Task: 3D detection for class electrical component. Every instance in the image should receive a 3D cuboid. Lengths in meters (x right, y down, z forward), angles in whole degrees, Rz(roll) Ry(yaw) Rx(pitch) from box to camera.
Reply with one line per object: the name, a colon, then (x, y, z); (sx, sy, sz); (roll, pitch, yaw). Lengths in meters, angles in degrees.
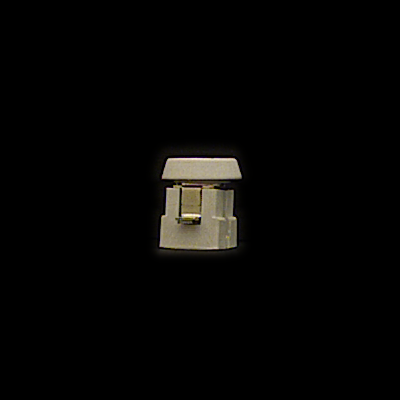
electrical component: (0.000, 0.000, 0.656); (0.048, 0.055, 0.067); (0, 1, 15)
